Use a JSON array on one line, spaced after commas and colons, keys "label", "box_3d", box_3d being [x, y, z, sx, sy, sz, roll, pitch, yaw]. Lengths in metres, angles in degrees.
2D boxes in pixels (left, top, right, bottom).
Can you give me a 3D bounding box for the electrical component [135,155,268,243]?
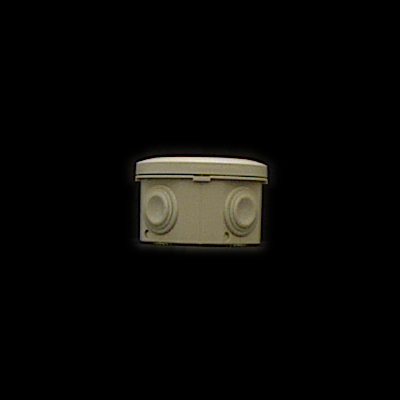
[{"label": "electrical component", "box_3d": [0.001, 0.000, 0.652, 0.080, 0.051, 0.080, 1, 0, 0]}]
